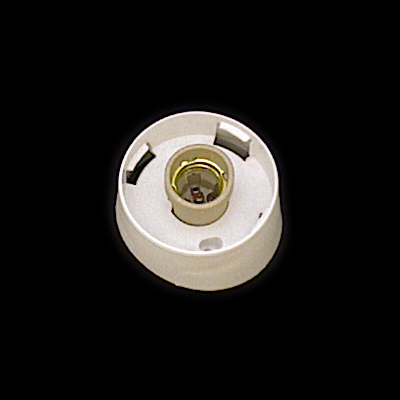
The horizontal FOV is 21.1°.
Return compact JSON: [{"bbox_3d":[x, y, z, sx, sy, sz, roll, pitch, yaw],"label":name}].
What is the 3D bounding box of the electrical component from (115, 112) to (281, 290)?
[{"bbox_3d":[0.000,0.000,0.625,0.099,0.099,0.064,0,-27,-1],"label":"electrical component"}]
